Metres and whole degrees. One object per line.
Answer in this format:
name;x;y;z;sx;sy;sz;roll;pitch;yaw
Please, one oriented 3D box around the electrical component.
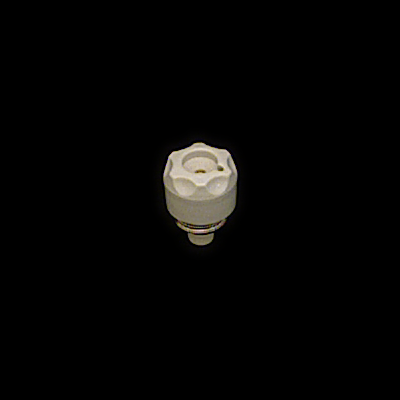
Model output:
electrical component;0.000;0.000;0.638;0.043;0.062;0.043;0;42;1
